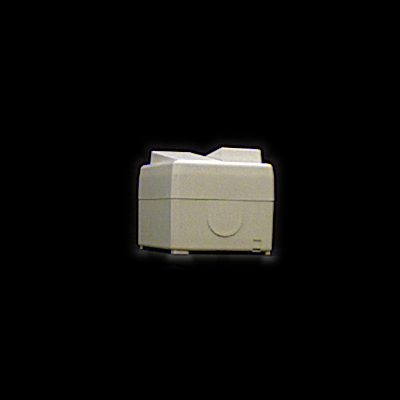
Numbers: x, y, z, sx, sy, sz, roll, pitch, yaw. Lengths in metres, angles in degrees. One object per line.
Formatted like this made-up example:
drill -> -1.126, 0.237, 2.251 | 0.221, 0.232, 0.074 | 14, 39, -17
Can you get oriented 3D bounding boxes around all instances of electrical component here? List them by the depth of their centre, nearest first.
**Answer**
electrical component -> 0.000, 0.000, 0.652 | 0.062, 0.061, 0.096 | 1, 0, -18
